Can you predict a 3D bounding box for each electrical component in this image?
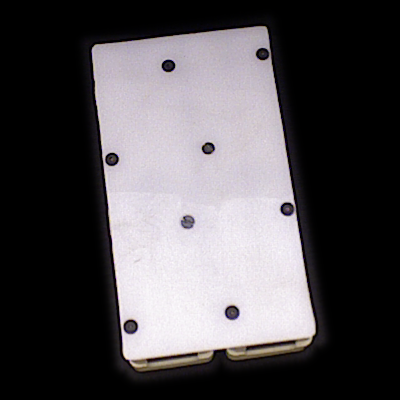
[{"bbox_3d":[0.000,0.000,0.625,0.105,0.187,0.060,-7,-17,-2],"label":"electrical component"}]
